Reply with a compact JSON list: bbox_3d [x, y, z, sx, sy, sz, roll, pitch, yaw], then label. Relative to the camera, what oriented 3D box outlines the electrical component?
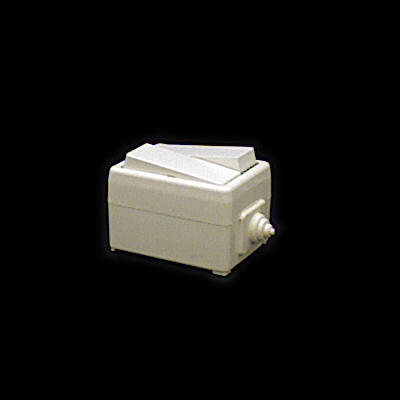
[{"bbox_3d":[0.000,0.000,0.638,0.096,0.061,0.061,11,23,25],"label":"electrical component"}]
